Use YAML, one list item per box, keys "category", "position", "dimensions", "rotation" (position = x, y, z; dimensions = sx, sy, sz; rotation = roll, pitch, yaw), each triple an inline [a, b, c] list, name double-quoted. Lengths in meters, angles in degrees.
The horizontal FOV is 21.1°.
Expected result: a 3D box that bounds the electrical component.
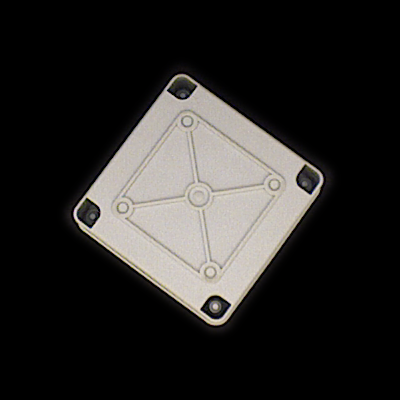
- category: "electrical component"
  position: [0.000, 0.000, 0.628]
  dimensions: [0.109, 0.109, 0.056]
  rotation: [36, -5, 4]
